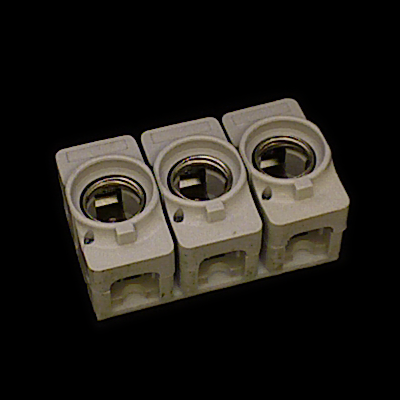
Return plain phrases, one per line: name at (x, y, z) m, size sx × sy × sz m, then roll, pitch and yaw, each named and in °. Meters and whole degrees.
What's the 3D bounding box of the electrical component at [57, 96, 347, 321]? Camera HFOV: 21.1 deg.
electrical component at (0.000, 0.000, 0.633) m, size 0.150 × 0.088 × 0.062 m, roll -14°, pitch -36°, yaw -11°
